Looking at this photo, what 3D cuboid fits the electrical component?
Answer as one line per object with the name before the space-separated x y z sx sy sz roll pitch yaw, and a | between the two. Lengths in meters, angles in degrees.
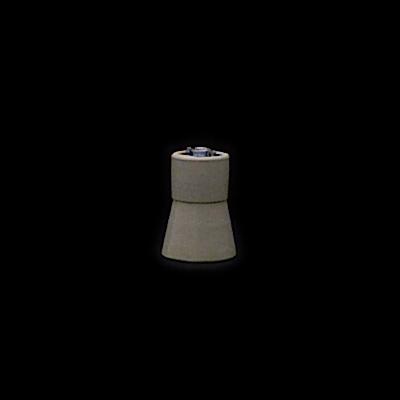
electrical component | 0.000 0.000 0.643 0.044 0.066 0.044 1 12 0
